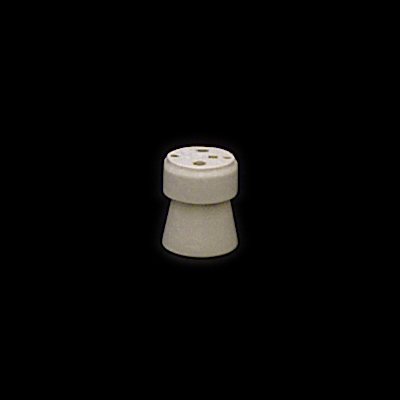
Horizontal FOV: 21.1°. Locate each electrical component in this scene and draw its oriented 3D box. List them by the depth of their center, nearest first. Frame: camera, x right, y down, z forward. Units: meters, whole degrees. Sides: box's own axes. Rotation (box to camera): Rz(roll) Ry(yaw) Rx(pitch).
[{"bbox_3d":[0.000,0.000,0.638,0.045,0.056,0.044,1,22,0],"label":"electrical component"}]
